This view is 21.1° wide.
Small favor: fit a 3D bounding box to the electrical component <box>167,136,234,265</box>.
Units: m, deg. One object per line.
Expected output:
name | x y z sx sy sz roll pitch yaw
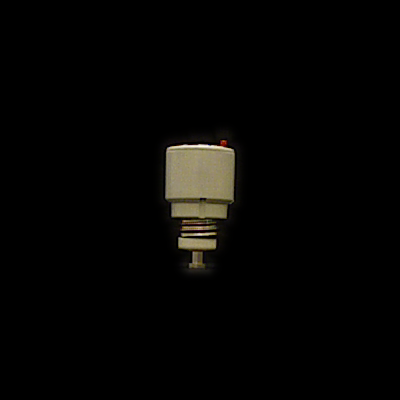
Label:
electrical component | 0.000 0.000 0.649 0.040 0.078 0.040 2 1 0
